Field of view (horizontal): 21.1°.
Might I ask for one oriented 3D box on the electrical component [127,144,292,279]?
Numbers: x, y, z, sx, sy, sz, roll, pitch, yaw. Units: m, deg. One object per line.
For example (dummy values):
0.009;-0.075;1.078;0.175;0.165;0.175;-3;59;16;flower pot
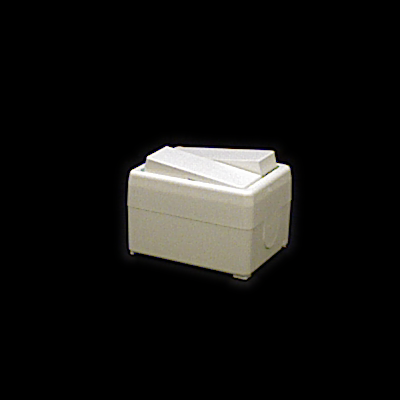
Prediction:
0.000;0.000;0.640;0.096;0.061;0.061;12;23;25;electrical component
